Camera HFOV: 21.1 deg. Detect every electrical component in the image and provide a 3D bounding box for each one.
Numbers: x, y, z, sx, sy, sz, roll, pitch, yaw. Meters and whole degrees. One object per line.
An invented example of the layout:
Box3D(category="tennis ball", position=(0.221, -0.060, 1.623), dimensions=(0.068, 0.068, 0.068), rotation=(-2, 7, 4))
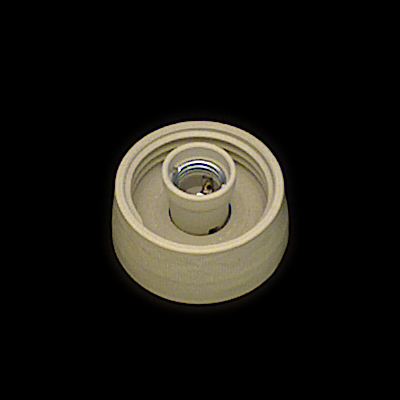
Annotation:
Box3D(category="electrical component", position=(0.000, 0.000, 0.635), dimensions=(0.108, 0.107, 0.060), rotation=(0, -37, 0))
